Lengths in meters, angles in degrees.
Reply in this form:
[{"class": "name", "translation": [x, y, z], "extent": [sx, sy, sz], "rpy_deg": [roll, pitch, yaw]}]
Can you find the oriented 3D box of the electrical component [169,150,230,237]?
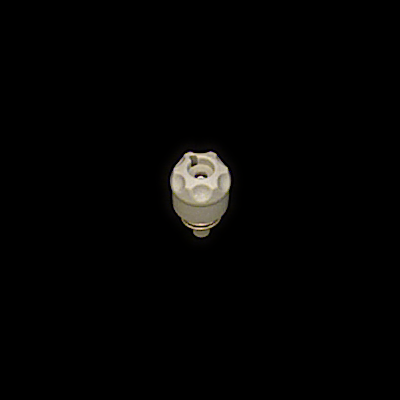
[{"class": "electrical component", "translation": [0.000, 0.000, 0.637], "extent": [0.035, 0.035, 0.062], "rpy_deg": [0, -37, 0]}]
